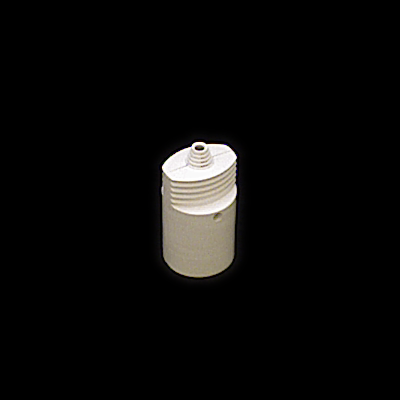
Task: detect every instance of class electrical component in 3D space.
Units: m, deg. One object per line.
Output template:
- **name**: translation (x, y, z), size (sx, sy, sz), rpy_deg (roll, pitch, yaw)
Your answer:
- **electrical component**: translation (0.000, 0.000, 0.623), size (0.043, 0.082, 0.042), rpy_deg (0, 42, 0)
